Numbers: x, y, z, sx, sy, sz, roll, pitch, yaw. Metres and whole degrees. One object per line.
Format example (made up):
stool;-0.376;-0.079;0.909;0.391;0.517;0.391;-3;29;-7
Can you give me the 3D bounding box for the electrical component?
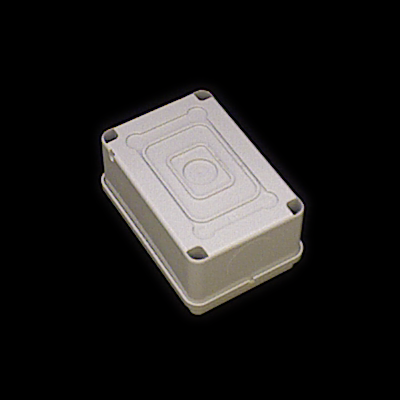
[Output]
electrical component;0.000;0.000;0.629;0.078;0.112;0.057;-25;-33;-19
